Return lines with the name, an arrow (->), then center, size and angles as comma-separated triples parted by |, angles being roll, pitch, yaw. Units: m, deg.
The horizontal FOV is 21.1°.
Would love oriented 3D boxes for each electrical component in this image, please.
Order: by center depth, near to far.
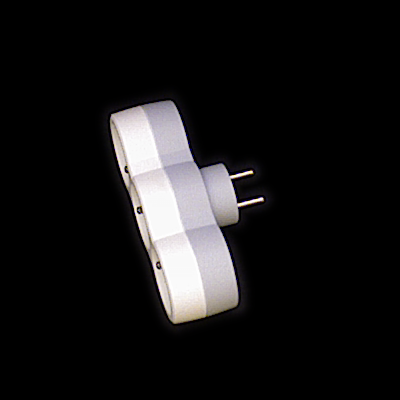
electrical component -> 0.000, 0.000, 0.632 | 0.074, 0.138, 0.052 | -15, -27, -10
